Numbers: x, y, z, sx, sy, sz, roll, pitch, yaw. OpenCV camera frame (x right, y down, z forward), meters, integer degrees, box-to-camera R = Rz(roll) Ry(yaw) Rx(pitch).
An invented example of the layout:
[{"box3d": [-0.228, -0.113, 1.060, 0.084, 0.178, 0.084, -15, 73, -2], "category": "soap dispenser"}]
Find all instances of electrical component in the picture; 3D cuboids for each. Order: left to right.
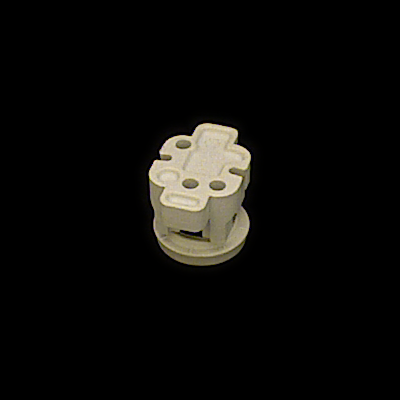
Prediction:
[{"box3d": [0.000, 0.000, 0.640, 0.057, 0.057, 0.078, 11, 42, 12], "category": "electrical component"}]
